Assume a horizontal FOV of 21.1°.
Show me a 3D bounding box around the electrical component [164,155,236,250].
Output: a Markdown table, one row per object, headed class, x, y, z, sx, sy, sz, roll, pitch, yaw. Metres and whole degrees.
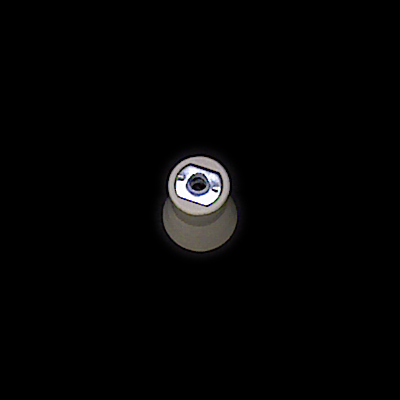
| class | x | y | z | sx | sy | sz | roll | pitch | yaw |
| --- | --- | --- | --- | --- | --- | --- | --- | --- | --- |
| electrical component | 0.000 | 0.000 | 0.625 | 0.044 | 0.044 | 0.065 | 0 | -18 | 0 |
